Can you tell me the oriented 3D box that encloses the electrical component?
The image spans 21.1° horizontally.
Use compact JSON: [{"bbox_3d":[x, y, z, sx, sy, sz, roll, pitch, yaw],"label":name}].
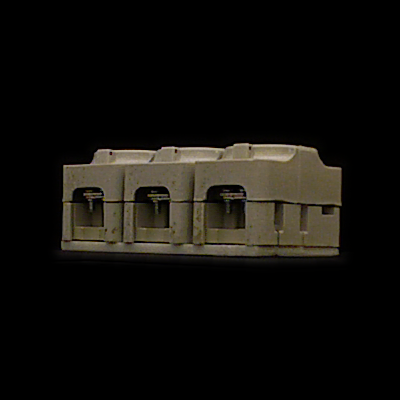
[{"bbox_3d":[0.000,0.000,0.655,0.150,0.062,0.090,0,0,37],"label":"electrical component"}]
